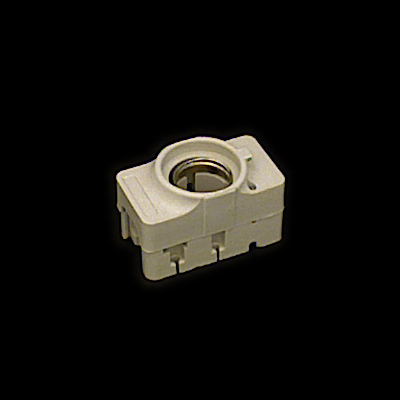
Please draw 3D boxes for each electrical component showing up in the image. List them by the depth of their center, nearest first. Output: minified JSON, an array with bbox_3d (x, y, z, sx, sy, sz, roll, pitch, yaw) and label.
[{"bbox_3d":[0.000,0.000,0.639,0.090,0.056,0.049,-18,46,-19],"label":"electrical component"}]
